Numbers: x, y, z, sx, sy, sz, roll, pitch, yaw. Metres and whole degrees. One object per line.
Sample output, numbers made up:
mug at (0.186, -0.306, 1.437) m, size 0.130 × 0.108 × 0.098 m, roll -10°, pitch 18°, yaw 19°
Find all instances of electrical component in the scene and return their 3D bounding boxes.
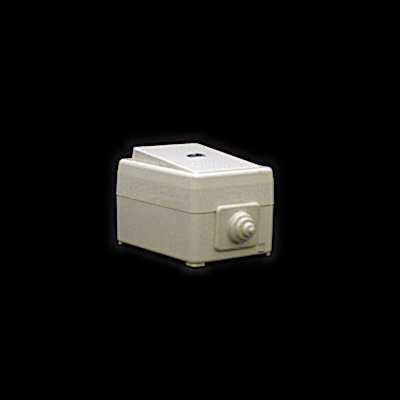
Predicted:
electrical component at (0.000, 0.000, 0.642) m, size 0.061 × 0.061 × 0.095 m, roll -7°, pitch 13°, yaw -38°
